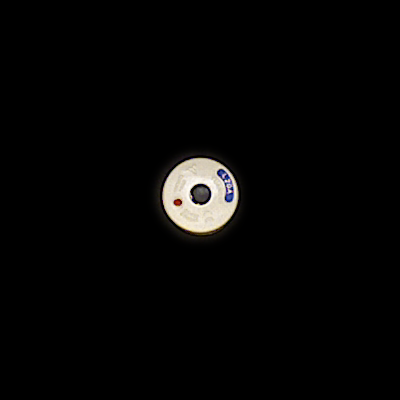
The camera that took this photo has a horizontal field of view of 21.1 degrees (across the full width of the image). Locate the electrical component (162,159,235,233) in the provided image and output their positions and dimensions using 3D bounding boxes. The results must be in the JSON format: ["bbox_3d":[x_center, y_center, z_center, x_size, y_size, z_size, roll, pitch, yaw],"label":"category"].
[{"bbox_3d":[0.000,0.000,0.617,0.040,0.040,0.078,0,-5,1],"label":"electrical component"}]
